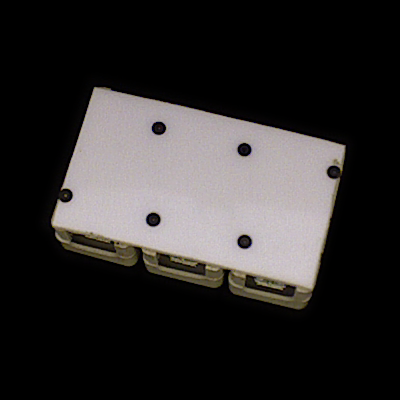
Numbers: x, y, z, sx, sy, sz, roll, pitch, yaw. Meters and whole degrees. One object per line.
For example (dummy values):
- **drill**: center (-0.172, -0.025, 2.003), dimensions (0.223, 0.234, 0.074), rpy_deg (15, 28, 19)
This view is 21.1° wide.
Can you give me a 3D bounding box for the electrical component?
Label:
- **electrical component**: center (0.000, 0.000, 0.630), dimensions (0.150, 0.089, 0.062), rpy_deg (14, -17, 5)
